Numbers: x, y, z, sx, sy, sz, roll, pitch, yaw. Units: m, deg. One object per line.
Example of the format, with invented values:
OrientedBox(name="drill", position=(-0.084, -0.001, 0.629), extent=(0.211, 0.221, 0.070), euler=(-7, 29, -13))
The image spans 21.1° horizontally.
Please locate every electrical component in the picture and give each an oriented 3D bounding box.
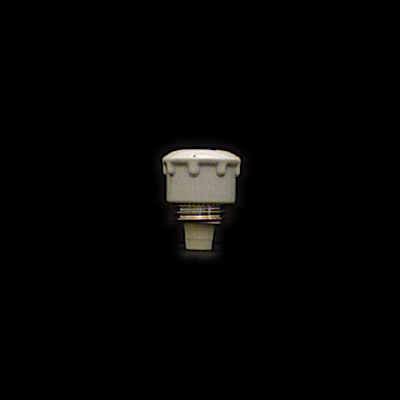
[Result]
OrientedBox(name="electrical component", position=(0.000, 0.000, 0.658), extent=(0.048, 0.062, 0.048), euler=(1, 2, 0))
